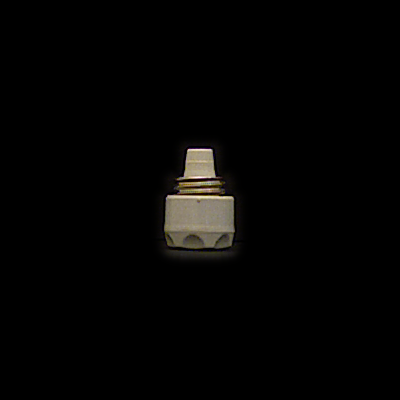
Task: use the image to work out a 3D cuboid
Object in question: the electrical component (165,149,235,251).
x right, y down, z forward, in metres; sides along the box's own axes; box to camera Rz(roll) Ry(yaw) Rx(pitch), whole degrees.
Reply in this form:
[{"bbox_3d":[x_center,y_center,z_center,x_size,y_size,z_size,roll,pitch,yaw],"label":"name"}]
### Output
[{"bbox_3d":[0.000,0.000,0.656,0.043,0.062,0.043,0,3,1],"label":"electrical component"}]
